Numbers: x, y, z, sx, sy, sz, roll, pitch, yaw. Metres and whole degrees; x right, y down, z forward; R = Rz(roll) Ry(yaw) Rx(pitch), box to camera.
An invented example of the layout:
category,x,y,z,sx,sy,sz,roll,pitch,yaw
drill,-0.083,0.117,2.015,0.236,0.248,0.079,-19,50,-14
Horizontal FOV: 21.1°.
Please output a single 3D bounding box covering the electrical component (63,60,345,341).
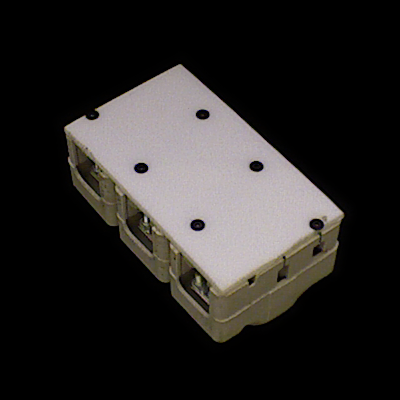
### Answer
category,x,y,z,sx,sy,sz,roll,pitch,yaw
electrical component,0.000,0.000,0.633,0.089,0.148,0.062,-31,-31,-23
